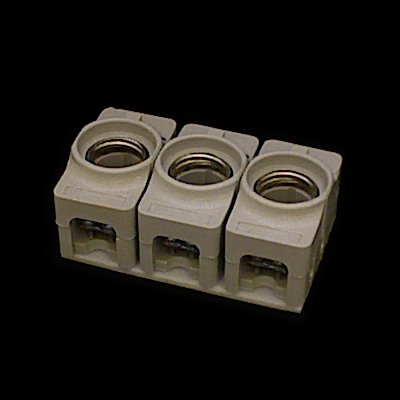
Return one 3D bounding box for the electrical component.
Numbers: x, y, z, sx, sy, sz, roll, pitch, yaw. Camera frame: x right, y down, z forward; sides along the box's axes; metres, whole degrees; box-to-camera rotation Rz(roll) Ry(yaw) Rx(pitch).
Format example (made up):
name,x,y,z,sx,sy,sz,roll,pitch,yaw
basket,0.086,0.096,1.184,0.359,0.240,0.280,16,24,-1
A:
name,x,y,z,sx,sy,sz,roll,pitch,yaw
electrical component,0.000,0.000,0.638,0.150,0.063,0.088,12,42,12
